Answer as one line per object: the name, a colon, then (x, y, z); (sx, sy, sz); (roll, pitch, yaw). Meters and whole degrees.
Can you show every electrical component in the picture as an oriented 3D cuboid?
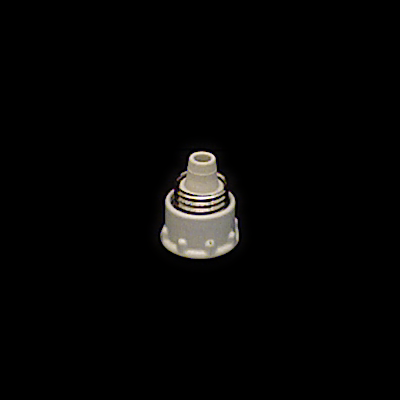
electrical component: (0.000, 0.000, 0.642); (0.048, 0.063, 0.047); (2, 33, 0)
